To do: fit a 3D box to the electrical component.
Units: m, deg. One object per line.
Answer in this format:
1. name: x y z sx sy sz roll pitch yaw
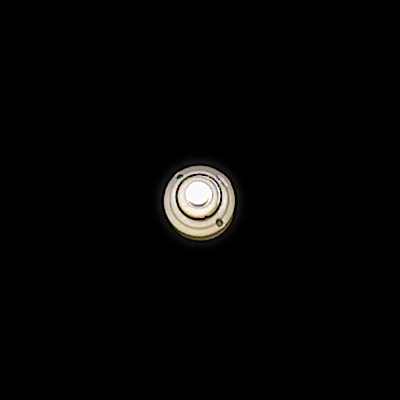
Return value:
1. electrical component: 0.000 0.000 0.618 0.040 0.040 0.078 0 -6 1
